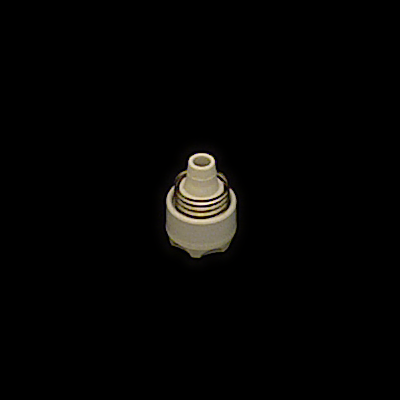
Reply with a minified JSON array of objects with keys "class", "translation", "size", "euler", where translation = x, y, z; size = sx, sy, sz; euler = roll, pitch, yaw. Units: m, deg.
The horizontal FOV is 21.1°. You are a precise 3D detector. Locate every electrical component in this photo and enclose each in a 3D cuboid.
[{"class":"electrical component","translation":[0.000,0.000,0.639],"size":[0.043,0.062,0.043],"euler":[1,41,0]}]
